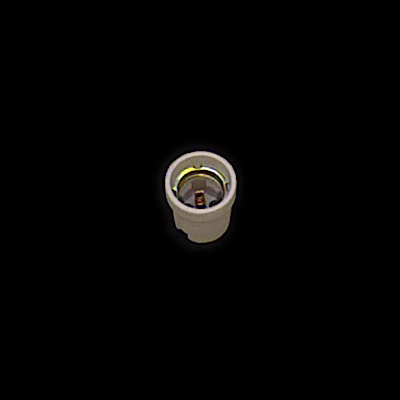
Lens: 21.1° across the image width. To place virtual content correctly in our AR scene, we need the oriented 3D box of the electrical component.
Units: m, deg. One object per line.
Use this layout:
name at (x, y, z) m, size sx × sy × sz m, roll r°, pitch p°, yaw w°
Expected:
electrical component at (0.000, 0.000, 0.627) m, size 0.040 × 0.040 × 0.046 m, roll 0°, pitch -27°, yaw 0°
